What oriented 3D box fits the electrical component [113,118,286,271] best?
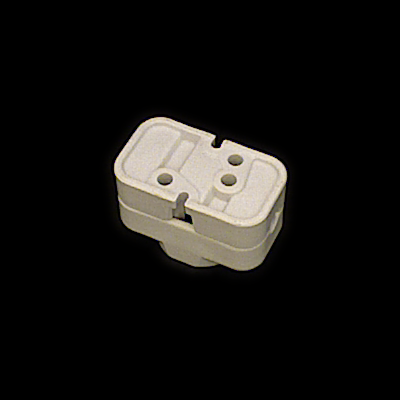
[{"bbox_3d":[0.000,0.000,0.638,0.094,0.053,0.059,21,-34,15],"label":"electrical component"}]
